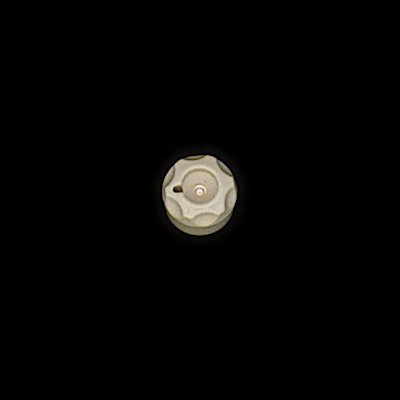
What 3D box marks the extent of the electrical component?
[{"bbox_3d":[0.000,0.000,0.634,0.043,0.043,0.061,0,-16,0],"label":"electrical component"}]
